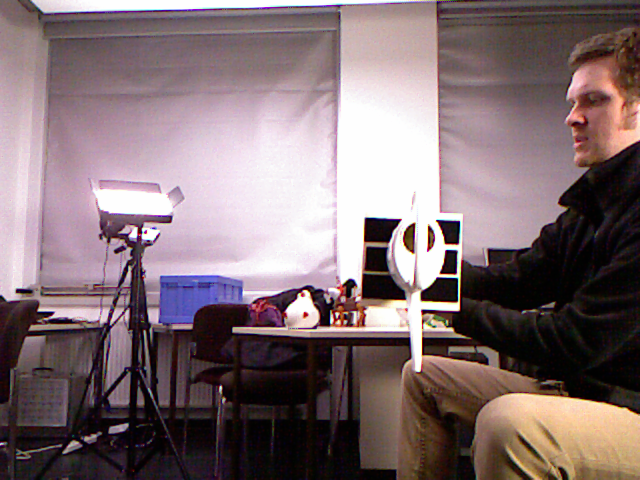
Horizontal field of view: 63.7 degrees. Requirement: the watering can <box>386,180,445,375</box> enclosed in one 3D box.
[{"bbox_3d":[0.179,0.062,0.992,0.104,0.350,0.224,4,-4,4],"label":"watering can"}]
